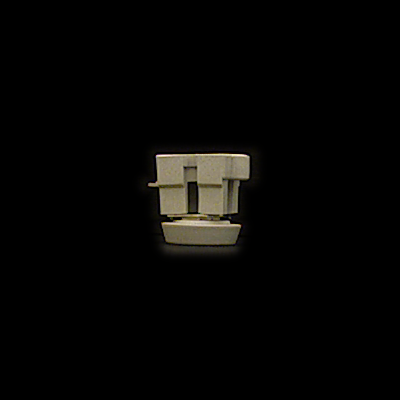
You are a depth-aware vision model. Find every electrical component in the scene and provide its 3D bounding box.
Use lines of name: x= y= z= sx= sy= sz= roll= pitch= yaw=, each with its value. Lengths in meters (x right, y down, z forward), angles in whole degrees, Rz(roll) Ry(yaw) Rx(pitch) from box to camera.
electrical component: x=0.000 y=0.000 z=0.657 sx=0.066 sy=0.055 sz=0.048 roll=1 pitch=3 yaw=18
